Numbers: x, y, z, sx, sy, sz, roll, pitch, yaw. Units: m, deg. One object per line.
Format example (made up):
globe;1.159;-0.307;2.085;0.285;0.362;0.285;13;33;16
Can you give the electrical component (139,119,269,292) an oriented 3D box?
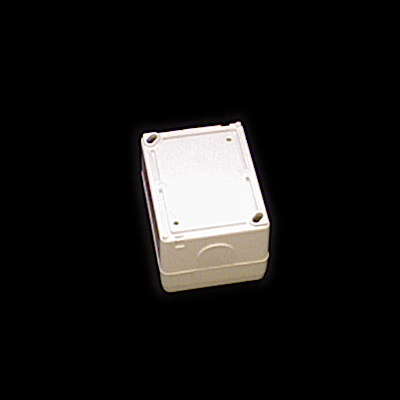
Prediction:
electrical component;0.000;0.000;0.630;0.062;0.096;0.061;-8;-38;-6
